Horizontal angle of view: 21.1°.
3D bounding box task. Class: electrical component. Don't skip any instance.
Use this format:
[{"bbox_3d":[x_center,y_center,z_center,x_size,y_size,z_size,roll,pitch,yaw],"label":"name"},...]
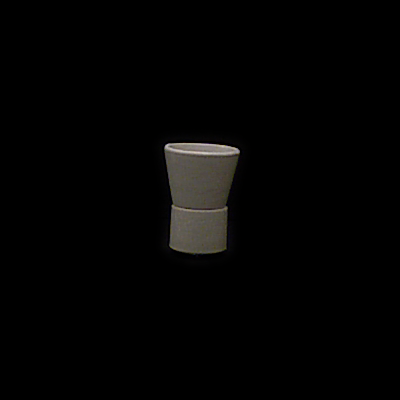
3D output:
[{"bbox_3d":[0.000,0.000,0.645,0.044,0.066,0.044,2,11,0],"label":"electrical component"}]
